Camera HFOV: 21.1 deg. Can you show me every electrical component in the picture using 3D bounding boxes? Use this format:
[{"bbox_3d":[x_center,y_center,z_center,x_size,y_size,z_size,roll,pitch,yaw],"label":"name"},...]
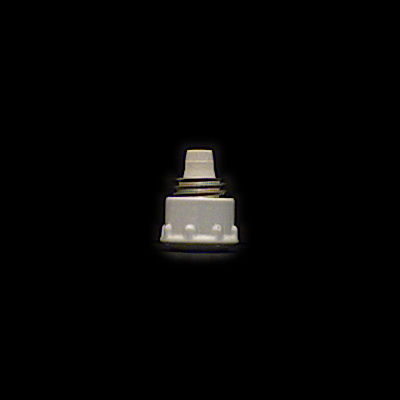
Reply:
[{"bbox_3d":[0.000,0.000,0.655,0.048,0.062,0.048,0,1,1],"label":"electrical component"}]
